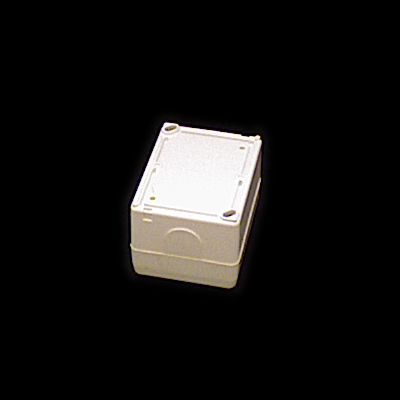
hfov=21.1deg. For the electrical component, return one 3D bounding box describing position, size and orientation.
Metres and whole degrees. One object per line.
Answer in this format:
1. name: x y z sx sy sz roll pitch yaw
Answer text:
1. electrical component: 0.000 0.000 0.632 0.062 0.061 0.095 8 42 8
